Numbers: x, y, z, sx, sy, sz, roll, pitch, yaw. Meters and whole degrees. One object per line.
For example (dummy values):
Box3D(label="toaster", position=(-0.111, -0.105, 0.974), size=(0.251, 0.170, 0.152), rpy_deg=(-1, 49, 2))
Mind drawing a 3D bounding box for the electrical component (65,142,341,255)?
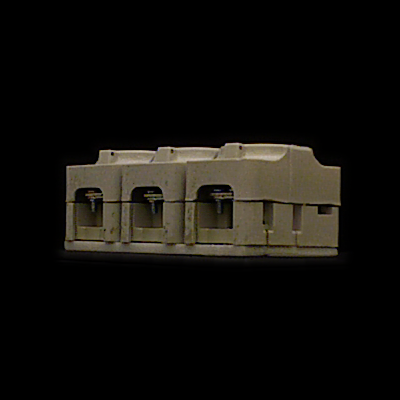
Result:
Box3D(label="electrical component", position=(0.000, 0.000, 0.655), size=(0.150, 0.062, 0.090), rpy_deg=(0, -1, 42))
